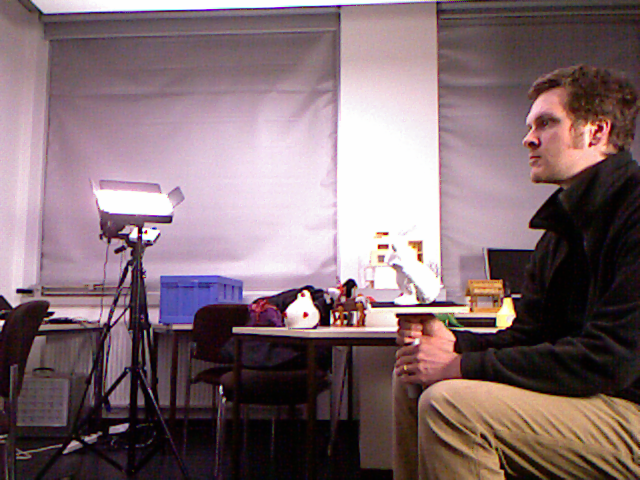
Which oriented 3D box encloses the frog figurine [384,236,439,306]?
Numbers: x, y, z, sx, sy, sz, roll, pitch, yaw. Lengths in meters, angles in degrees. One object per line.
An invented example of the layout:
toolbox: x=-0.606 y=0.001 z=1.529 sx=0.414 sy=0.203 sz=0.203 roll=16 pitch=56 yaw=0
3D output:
frog figurine: x=0.210 y=0.070 z=1.174 sx=0.122 sy=0.159 sz=0.138 roll=0 pitch=1 yaw=21
